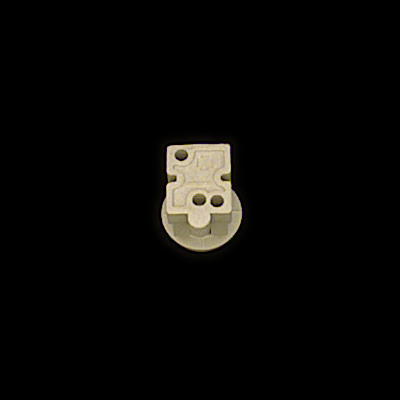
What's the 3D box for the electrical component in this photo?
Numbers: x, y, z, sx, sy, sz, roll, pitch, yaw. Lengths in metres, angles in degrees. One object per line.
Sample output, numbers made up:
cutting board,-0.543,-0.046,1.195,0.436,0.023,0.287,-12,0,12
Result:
electrical component,0.000,0.000,0.637,0.048,0.066,0.055,-1,-27,1
